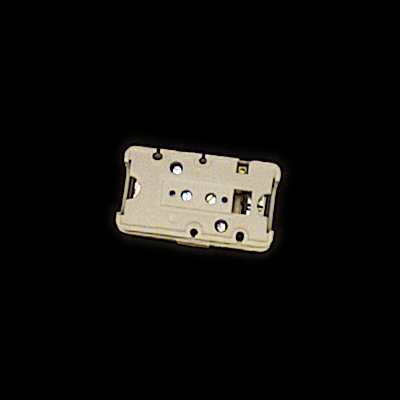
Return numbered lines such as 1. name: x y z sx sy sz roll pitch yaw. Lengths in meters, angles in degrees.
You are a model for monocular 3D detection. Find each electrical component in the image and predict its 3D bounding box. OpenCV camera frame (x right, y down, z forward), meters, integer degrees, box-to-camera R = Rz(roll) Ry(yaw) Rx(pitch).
1. electrical component: 0.000 0.000 0.637 0.089 0.050 0.055 7 -6 0
